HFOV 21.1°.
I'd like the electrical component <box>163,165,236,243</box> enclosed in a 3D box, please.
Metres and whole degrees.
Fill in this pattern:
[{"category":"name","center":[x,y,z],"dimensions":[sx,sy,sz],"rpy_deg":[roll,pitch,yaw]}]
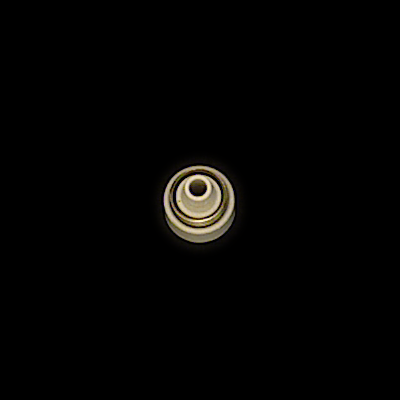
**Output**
[{"category":"electrical component","center":[0.000,0.000,0.633],"dimensions":[0.043,0.043,0.061],"rpy_deg":[0,-14,1]}]
